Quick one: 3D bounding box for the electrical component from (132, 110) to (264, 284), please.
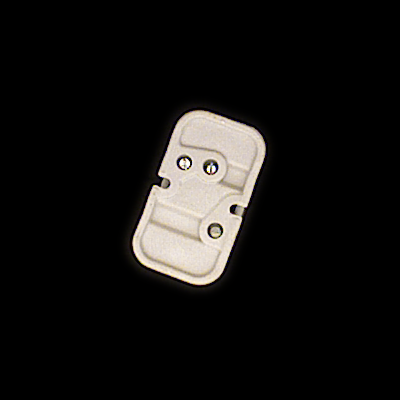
[{"bbox_3d":[0.000,0.000,0.636,0.053,0.095,0.059,20,-5,3],"label":"electrical component"}]
